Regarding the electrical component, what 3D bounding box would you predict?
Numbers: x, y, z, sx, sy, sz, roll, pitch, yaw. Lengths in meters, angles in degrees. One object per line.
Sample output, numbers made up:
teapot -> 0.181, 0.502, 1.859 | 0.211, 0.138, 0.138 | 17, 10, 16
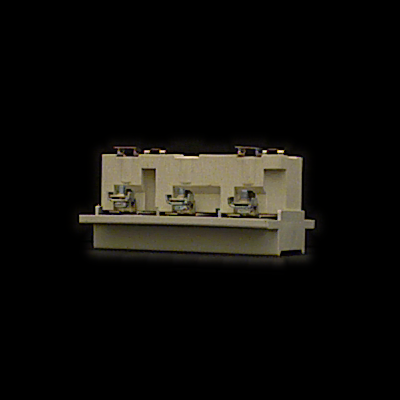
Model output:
electrical component -> 0.000, 0.000, 0.654 | 0.121, 0.063, 0.079 | 1, 1, 24
